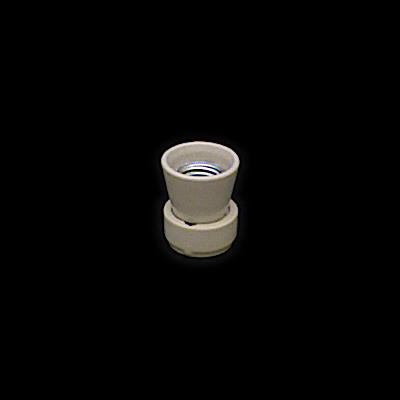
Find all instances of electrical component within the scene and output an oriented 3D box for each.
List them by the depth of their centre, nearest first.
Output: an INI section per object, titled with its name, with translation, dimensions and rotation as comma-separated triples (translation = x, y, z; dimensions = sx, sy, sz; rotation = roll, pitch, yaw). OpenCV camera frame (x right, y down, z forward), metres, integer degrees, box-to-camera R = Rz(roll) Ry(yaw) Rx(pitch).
[electrical component]
translation = 0.000, 0.000, 0.634
dimensions = 0.045, 0.056, 0.044
rotation = 0, 31, 0
